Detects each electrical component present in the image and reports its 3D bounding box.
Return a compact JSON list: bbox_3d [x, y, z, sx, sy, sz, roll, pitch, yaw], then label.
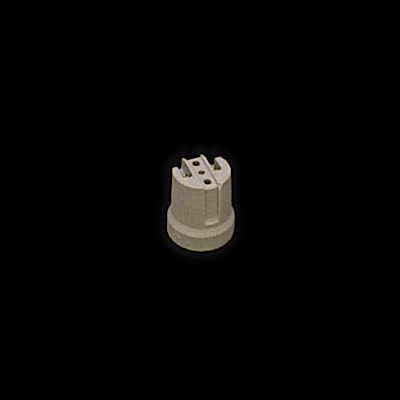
[{"bbox_3d":[0.000,0.000,0.637,0.040,0.046,0.040,1,42,-1],"label":"electrical component"}]
